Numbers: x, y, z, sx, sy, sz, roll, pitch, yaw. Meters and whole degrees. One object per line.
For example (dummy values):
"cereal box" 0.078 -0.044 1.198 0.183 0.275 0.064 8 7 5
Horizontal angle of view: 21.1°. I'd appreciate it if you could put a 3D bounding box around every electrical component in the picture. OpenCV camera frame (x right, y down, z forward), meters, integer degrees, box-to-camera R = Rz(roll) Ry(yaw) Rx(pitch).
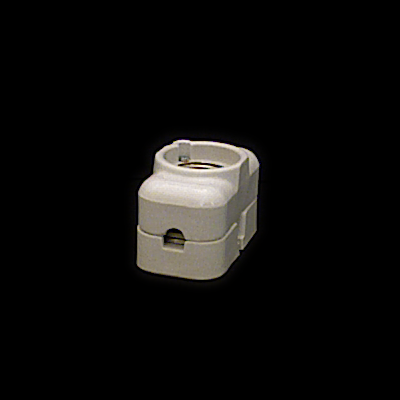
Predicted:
"electrical component" 0.000 0.000 0.646 0.053 0.060 0.094 8 22 16
